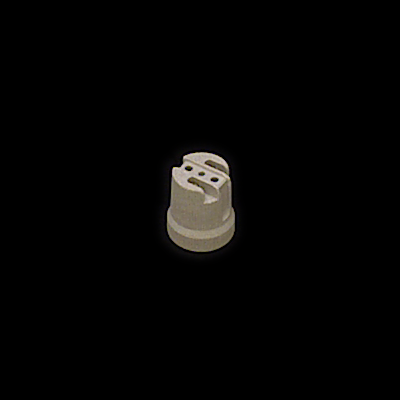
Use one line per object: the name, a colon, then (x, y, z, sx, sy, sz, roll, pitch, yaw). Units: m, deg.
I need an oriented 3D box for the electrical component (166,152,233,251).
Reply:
electrical component: (0.000, 0.000, 0.634, 0.040, 0.046, 0.040, 0, 42, 0)
